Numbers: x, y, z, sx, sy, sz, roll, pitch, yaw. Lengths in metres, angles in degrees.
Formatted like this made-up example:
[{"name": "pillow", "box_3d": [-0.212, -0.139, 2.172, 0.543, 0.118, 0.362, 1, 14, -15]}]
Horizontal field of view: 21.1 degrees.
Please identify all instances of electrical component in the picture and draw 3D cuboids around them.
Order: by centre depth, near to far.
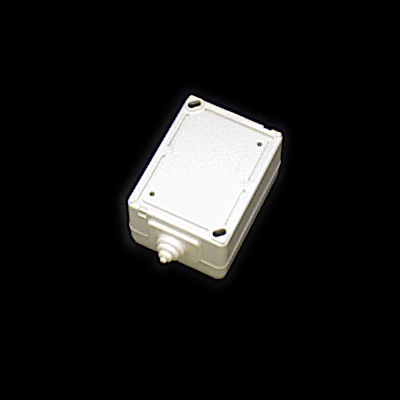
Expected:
[{"name": "electrical component", "box_3d": [0.000, 0.000, 0.622, 0.062, 0.097, 0.060, 24, -25, 11]}]
